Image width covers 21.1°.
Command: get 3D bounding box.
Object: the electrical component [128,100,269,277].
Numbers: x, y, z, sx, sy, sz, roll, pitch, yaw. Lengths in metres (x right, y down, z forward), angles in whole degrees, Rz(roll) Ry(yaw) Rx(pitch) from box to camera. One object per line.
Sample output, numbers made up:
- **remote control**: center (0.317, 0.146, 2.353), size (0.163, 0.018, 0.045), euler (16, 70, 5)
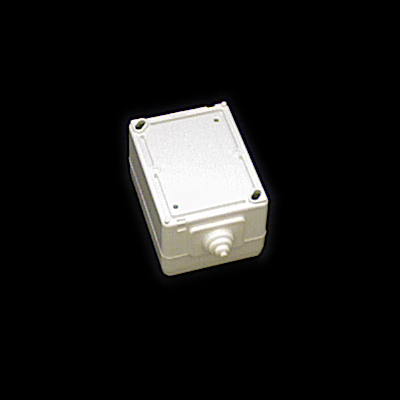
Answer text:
- **electrical component**: center (-0.001, 0.000, 0.624), size (0.062, 0.096, 0.061), euler (-13, -37, -11)
